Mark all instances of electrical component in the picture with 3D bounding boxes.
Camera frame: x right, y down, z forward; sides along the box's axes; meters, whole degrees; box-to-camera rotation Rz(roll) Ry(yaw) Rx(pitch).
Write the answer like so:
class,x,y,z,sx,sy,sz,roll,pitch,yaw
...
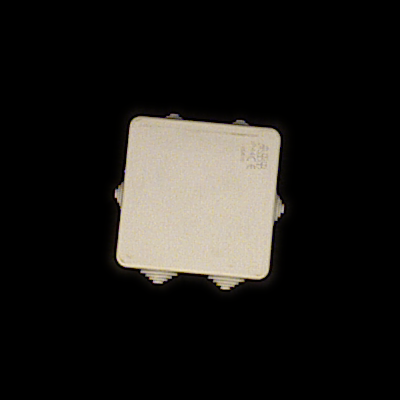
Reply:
class,x,y,z,sx,sy,sz,roll,pitch,yaw
electrical component,0.000,0.000,0.642,0.100,0.100,0.048,6,-6,0
